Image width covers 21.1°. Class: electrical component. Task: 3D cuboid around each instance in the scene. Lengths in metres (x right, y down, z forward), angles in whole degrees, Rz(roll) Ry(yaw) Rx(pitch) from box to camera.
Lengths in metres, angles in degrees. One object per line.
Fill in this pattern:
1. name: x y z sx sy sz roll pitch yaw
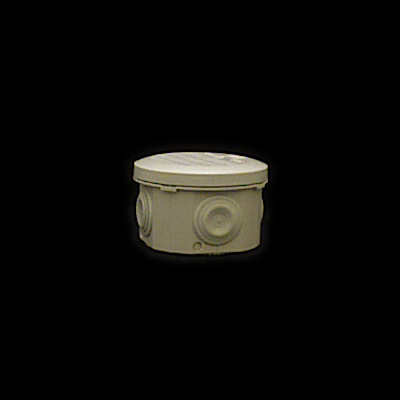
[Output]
1. electrical component: 0.000 0.000 0.643 0.080 0.051 0.079 1 11 0
